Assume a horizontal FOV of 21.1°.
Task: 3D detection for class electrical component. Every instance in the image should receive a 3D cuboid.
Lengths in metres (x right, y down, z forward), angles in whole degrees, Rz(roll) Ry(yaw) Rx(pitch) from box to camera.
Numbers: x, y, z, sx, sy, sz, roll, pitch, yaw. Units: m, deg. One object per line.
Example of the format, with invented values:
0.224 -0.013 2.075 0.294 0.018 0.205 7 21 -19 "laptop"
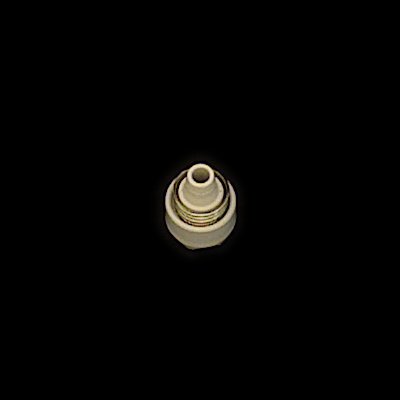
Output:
0.000 0.000 0.634 0.043 0.043 0.062 0 -28 0 "electrical component"
